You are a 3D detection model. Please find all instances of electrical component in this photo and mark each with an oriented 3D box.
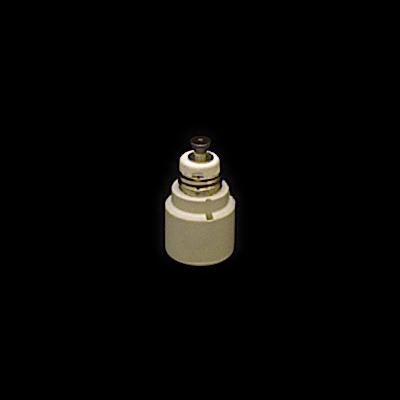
[{"bbox_3d":[0.000,0.000,0.628,0.040,0.079,0.039,0,30,0],"label":"electrical component"}]
